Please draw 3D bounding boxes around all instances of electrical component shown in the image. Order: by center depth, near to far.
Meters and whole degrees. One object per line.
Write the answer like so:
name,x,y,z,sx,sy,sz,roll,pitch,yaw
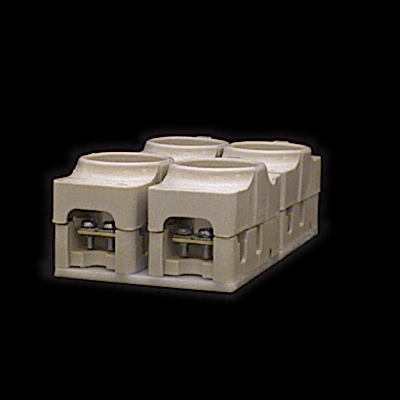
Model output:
electrical component,0.000,0.000,0.645,0.105,0.060,0.185,5,10,20
